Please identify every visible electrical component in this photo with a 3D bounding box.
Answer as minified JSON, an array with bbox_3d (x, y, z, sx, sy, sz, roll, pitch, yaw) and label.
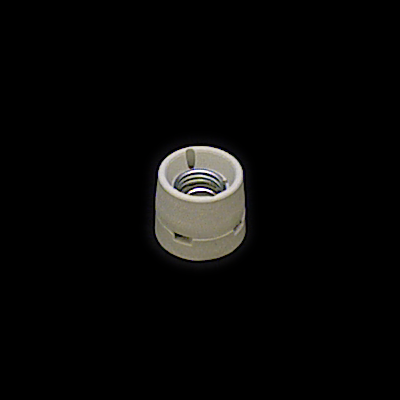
[{"bbox_3d":[0.000,0.000,0.635,0.055,0.047,0.055,0,43,0],"label":"electrical component"}]
